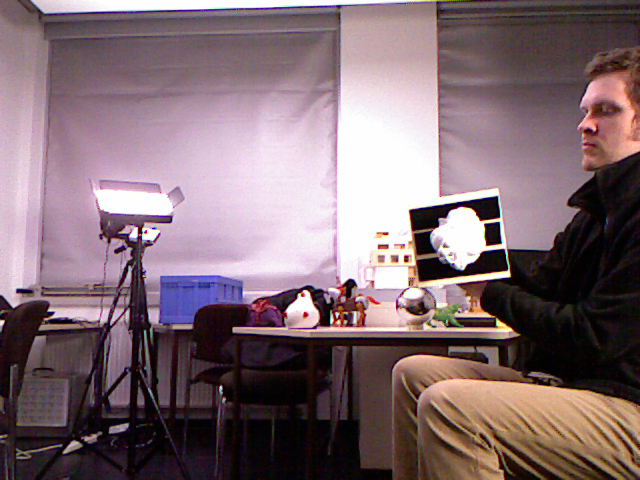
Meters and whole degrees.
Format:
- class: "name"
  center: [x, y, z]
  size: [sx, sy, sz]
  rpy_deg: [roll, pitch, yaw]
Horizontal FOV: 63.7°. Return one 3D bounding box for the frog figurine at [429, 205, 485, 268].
- class: "frog figurine"
  center: [0.302, -0.008, 1.121]
  size: [0.123, 0.137, 0.160]
  rpy_deg: [15, 5, 11]
